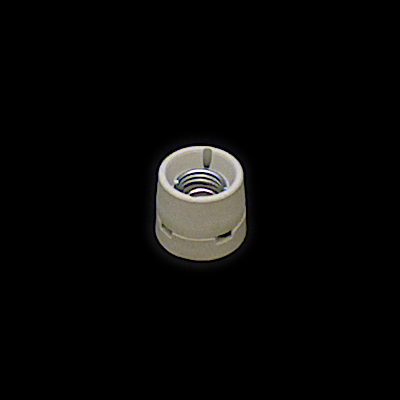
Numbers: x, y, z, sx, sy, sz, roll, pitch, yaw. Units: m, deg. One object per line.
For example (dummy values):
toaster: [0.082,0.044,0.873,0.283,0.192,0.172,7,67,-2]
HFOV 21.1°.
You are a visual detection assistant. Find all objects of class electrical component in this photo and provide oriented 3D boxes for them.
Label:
electrical component: [0.000,0.000,0.635,0.055,0.047,0.055,0,43,0]
